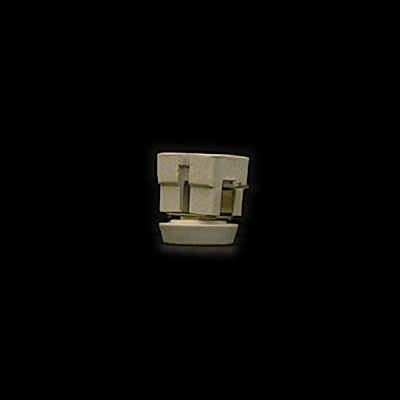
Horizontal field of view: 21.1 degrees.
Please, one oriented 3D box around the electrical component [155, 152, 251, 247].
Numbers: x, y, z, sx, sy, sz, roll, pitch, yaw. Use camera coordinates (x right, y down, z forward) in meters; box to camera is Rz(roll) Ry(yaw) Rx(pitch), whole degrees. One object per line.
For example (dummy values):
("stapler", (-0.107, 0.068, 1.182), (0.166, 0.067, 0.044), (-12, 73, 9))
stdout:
("electrical component", (0.000, 0.000, 0.656), (0.066, 0.055, 0.049), (4, 2, 38))
